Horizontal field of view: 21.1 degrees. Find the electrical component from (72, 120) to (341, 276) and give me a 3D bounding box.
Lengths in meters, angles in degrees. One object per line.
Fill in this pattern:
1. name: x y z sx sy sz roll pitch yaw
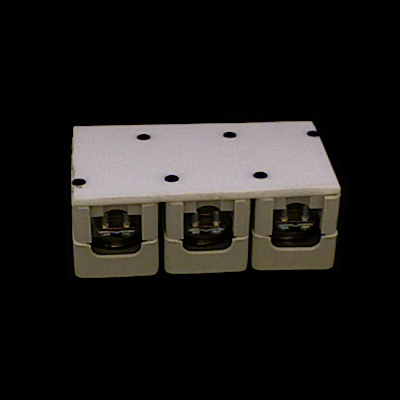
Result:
1. electrical component: 0.000 0.000 0.643 0.150 0.063 0.087 -2 31 -5
